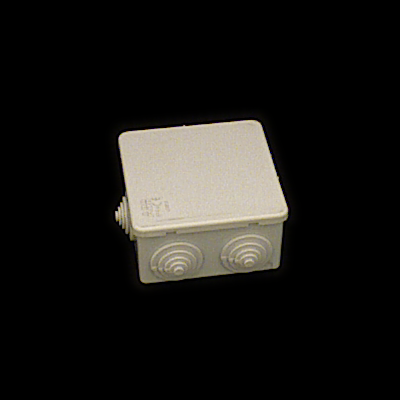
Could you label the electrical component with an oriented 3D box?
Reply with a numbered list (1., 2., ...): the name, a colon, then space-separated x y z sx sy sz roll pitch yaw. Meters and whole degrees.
1. electrical component: 0.000 0.000 0.641 0.100 0.049 0.099 -6 43 -7
